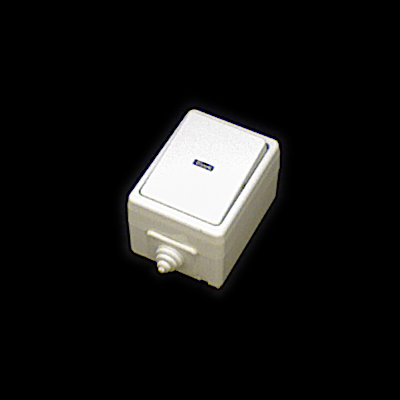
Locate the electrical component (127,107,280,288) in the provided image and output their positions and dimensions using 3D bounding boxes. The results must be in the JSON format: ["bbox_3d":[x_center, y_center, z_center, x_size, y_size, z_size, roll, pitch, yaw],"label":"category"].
[{"bbox_3d":[0.000,0.000,0.626,0.061,0.096,0.061,22,-35,16],"label":"electrical component"}]
